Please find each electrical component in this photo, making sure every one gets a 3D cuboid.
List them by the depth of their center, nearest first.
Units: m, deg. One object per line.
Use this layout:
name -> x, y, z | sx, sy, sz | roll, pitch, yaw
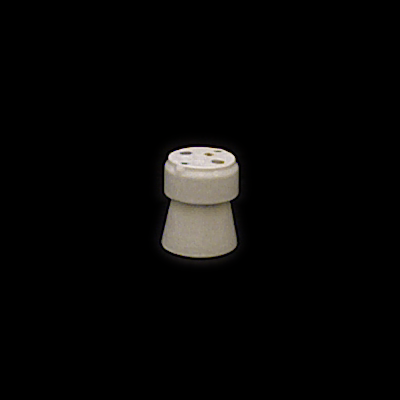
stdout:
electrical component -> 0.000, 0.000, 0.639 | 0.045, 0.056, 0.044 | 1, 22, 0
